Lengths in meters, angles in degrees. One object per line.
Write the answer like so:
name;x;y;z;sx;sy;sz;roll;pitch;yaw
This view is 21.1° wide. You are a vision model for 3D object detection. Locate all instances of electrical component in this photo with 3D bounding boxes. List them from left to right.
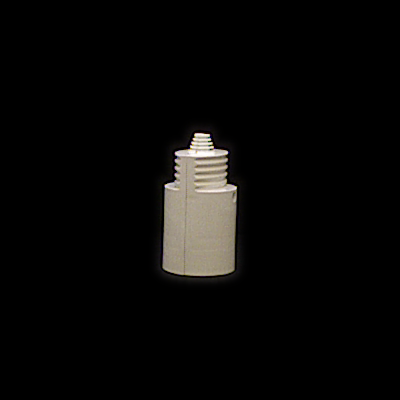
electrical component;0.000;0.000;0.641;0.043;0.081;0.043;1;11;0
